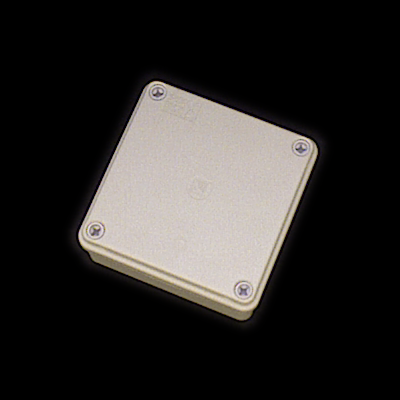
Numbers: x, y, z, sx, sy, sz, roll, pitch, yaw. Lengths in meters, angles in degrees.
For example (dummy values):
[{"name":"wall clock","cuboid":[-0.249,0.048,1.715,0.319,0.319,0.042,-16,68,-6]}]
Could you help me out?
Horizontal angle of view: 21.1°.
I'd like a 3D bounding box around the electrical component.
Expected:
[{"name":"electrical component","cuboid":[0.000,0.000,0.629,0.109,0.109,0.056,21,-15,6]}]
